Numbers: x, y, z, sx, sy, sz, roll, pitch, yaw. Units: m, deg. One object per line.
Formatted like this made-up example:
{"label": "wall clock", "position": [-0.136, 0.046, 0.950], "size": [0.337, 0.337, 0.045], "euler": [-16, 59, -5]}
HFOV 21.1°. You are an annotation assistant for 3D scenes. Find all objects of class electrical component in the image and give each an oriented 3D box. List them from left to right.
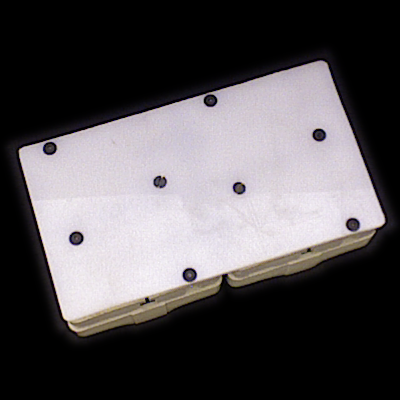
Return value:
{"label": "electrical component", "position": [0.000, 0.000, 0.625], "size": [0.186, 0.106, 0.060], "euler": [-17, -16, -5]}
